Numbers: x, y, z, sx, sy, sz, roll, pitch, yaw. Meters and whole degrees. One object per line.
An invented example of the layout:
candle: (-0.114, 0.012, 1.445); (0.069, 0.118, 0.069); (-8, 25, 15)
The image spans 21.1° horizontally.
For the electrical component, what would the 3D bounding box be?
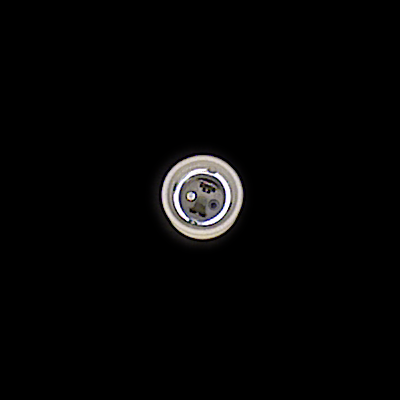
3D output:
electrical component: (0.000, 0.000, 0.629); (0.045, 0.045, 0.055); (0, -7, 0)
